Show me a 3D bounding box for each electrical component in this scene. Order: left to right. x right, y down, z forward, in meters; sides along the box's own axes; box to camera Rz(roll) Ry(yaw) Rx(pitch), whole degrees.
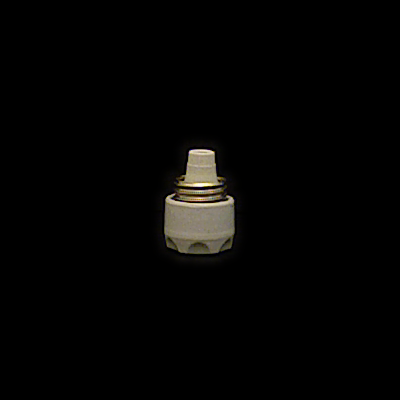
[{"bbox_3d":[0.000,0.000,0.650,0.043,0.062,0.043,2,13,0],"label":"electrical component"}]
